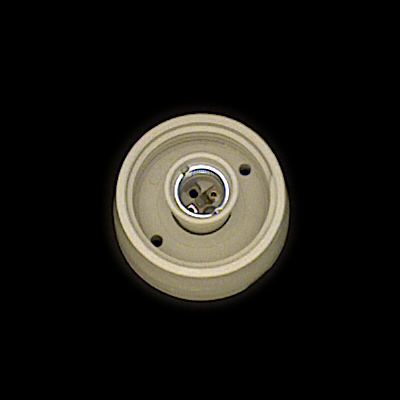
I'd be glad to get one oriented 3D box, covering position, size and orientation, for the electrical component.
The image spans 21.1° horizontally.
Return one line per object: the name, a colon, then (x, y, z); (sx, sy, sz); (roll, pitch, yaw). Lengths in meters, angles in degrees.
electrical component: (0.000, 0.000, 0.633); (0.108, 0.108, 0.060); (0, -16, 0)
